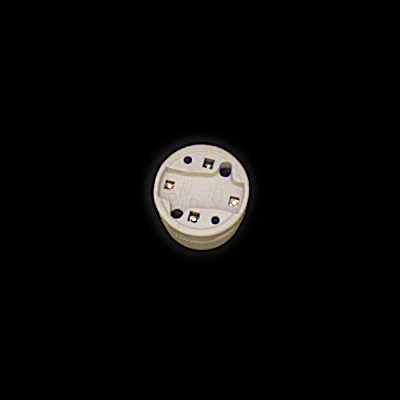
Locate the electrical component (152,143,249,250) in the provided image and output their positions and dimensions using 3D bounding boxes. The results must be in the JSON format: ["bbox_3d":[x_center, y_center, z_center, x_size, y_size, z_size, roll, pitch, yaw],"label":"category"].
[{"bbox_3d":[0.000,0.000,0.634,0.055,0.056,0.047,0,-17,0],"label":"electrical component"}]
